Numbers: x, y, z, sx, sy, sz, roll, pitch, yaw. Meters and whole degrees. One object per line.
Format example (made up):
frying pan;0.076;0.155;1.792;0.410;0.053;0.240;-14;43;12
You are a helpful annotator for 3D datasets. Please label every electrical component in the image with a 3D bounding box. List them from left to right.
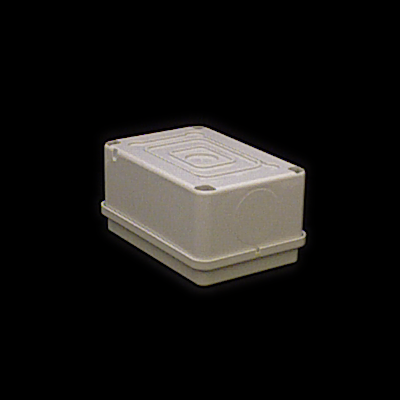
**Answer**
electrical component;0.000;0.000;0.639;0.078;0.058;0.112;-13;25;-32
